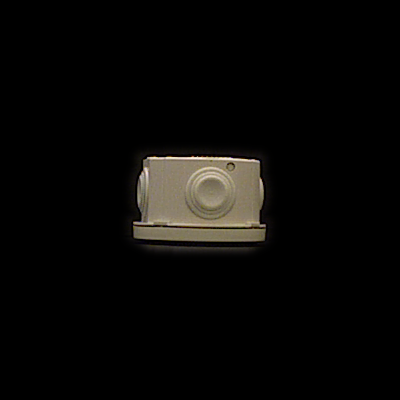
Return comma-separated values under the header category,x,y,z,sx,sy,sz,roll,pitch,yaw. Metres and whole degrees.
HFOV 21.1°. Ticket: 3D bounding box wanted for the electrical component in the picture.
category,x,y,z,sx,sy,sz,roll,pitch,yaw
electrical component,0.000,0.000,0.648,0.080,0.051,0.080,1,1,0
